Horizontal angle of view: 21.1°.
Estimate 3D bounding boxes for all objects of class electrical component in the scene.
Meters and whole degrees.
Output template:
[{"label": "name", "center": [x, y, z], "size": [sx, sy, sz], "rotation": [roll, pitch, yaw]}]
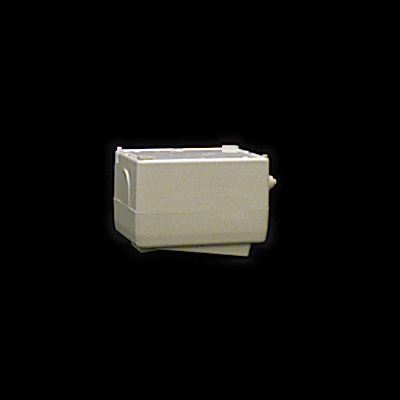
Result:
[{"label": "electrical component", "center": [0.000, 0.000, 0.649], "size": [0.096, 0.061, 0.061], "rotation": [-2, 10, -18]}]
